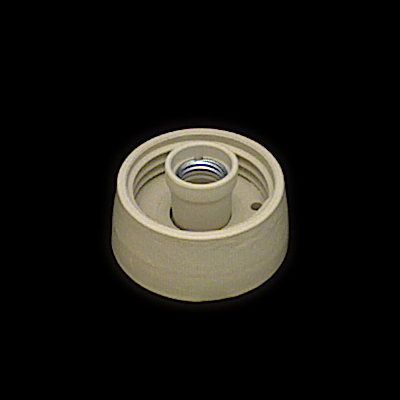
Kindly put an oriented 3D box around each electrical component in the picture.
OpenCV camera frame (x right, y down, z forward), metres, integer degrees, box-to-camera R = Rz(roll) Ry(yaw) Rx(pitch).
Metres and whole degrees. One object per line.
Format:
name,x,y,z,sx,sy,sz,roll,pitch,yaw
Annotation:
electrical component,0.000,0.000,0.637,0.108,0.061,0.107,1,42,0
